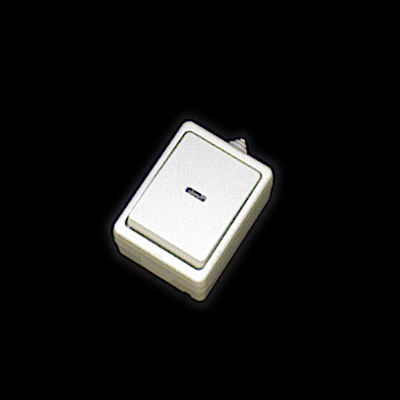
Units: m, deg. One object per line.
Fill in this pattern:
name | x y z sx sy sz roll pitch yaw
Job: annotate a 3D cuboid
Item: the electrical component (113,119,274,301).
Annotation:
electrical component | 0.000 0.000 0.626 0.062 0.096 0.060 31 -15 9
